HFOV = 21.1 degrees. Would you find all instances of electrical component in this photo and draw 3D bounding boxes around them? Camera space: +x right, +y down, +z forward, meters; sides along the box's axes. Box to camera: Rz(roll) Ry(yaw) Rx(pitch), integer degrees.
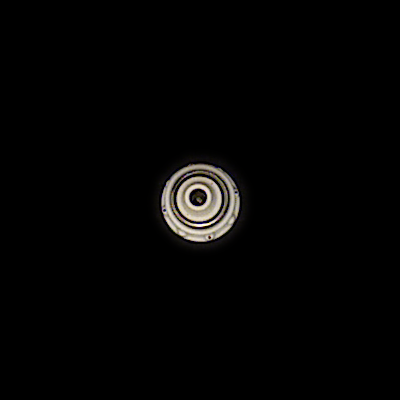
[{"bbox_3d":[0.000,0.000,0.634,0.048,0.048,0.062,0,-4,1],"label":"electrical component"}]
